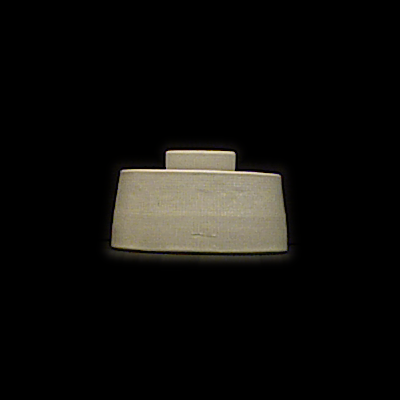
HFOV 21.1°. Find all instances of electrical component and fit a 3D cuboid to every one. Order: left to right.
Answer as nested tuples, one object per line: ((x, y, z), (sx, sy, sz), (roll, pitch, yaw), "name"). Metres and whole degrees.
((0.000, 0.000, 0.658), (0.108, 0.060, 0.108), (1, 1, 1), "electrical component")
